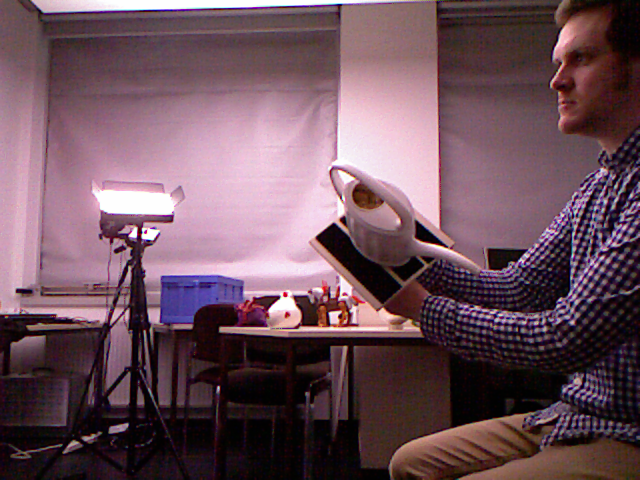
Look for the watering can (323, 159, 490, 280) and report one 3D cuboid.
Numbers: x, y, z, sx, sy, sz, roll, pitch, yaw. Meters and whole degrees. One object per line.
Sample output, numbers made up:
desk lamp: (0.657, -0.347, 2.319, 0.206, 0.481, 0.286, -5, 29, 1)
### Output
watering can: (0.135, -0.012, 0.918, 0.352, 0.105, 0.220, 41, -15, 22)
